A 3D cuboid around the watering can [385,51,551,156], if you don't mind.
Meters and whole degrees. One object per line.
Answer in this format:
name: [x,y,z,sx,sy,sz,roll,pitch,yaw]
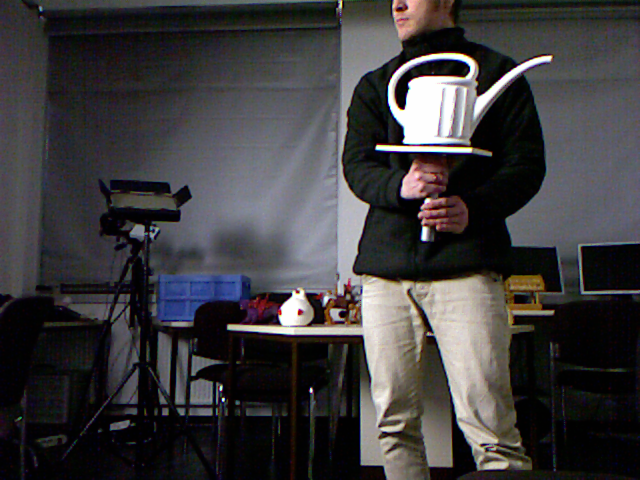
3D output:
watering can: [0.302,-0.293,1.115,0.349,0.222,0.105,8,14,28]
